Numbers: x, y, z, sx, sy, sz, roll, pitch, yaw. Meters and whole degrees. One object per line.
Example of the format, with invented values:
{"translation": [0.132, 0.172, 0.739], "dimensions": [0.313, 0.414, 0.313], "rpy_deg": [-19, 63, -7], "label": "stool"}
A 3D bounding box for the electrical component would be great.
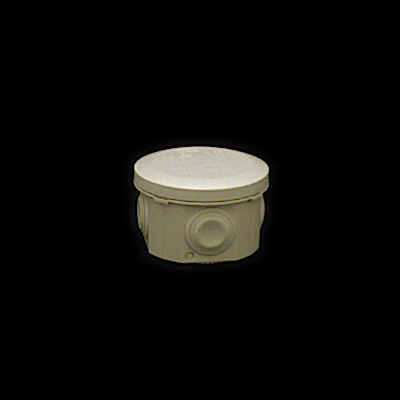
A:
{"translation": [0.000, 0.000, 0.642], "dimensions": [0.080, 0.051, 0.079], "rpy_deg": [1, 21, 0], "label": "electrical component"}
